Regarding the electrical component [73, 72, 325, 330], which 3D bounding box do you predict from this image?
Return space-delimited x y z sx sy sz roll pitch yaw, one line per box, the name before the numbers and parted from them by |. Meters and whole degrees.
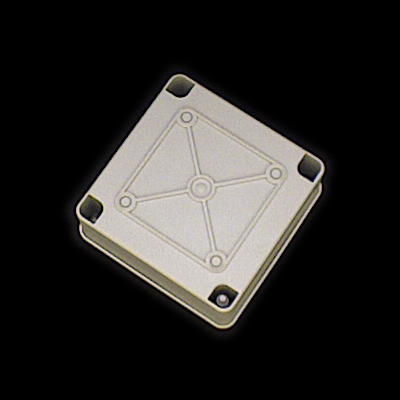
electrical component | 0.000 0.000 0.627 0.109 0.109 0.056 33 -14 9
